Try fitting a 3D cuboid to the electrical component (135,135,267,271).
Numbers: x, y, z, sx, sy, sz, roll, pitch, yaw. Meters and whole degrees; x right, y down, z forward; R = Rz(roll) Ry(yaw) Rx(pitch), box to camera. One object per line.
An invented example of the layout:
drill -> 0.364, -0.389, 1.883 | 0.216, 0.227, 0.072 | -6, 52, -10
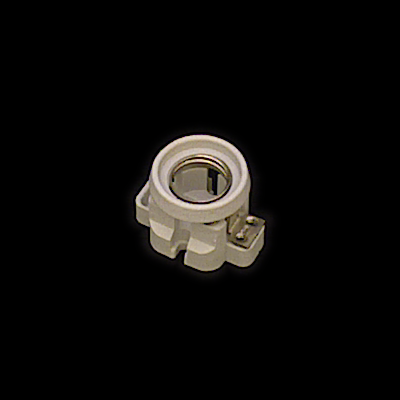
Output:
electrical component -> 0.000, 0.000, 0.630 | 0.078, 0.057, 0.057 | 23, -34, 16
